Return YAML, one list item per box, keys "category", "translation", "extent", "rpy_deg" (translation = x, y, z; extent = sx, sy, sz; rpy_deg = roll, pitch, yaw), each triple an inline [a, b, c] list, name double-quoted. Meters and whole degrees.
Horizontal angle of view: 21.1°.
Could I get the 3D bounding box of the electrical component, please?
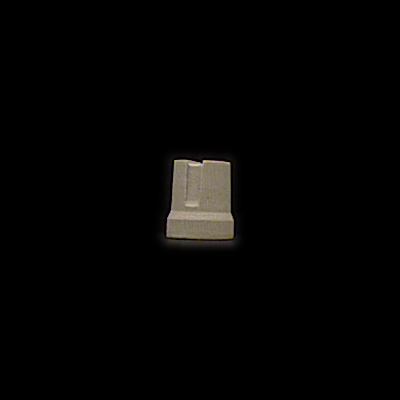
- category: "electrical component"
  translation: [0.000, 0.000, 0.651]
  extent: [0.040, 0.046, 0.040]
  rpy_deg: [2, 2, 0]
